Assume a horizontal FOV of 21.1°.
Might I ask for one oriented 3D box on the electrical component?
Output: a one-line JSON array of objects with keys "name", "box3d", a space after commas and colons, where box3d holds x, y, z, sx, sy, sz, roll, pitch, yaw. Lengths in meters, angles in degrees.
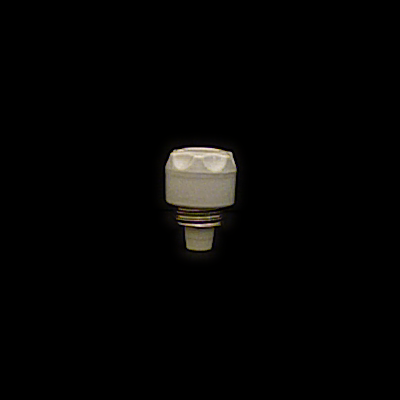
[{"name": "electrical component", "box3d": [0.000, 0.000, 0.652, 0.043, 0.062, 0.043, 2, 11, 0]}]
